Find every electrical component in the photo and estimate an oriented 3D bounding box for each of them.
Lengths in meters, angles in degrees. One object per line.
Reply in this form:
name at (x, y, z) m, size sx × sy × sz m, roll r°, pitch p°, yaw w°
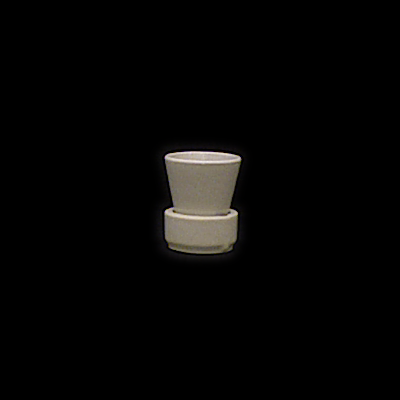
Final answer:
electrical component at (0.000, 0.000, 0.646) m, size 0.045 × 0.055 × 0.044 m, roll 2°, pitch 11°, yaw 0°
